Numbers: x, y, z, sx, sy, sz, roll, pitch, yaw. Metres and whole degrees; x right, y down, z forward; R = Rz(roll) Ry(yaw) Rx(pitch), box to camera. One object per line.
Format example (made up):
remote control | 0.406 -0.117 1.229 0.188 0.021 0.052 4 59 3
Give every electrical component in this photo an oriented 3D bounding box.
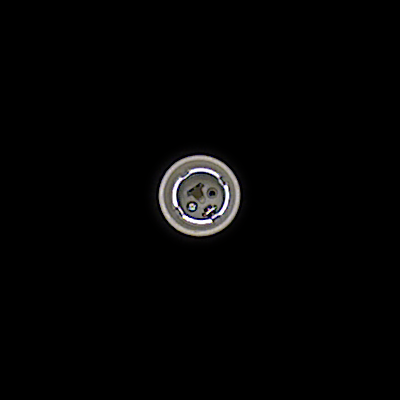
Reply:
electrical component | 0.000 0.000 0.624 0.044 0.044 0.065 0 -5 1
